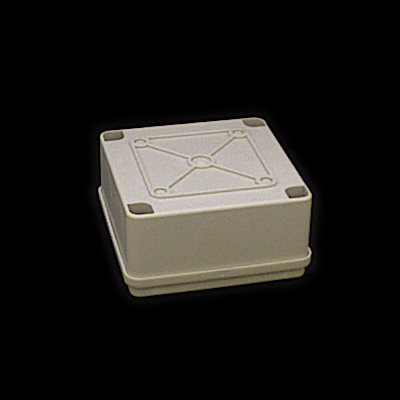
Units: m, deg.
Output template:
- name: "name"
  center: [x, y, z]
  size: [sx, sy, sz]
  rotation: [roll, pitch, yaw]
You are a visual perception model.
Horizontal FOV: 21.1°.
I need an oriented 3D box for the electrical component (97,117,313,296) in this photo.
- name: "electrical component"
  center: [0.000, 0.000, 0.637]
  size: [0.109, 0.057, 0.107]
  rotation: [-6, 32, -12]
